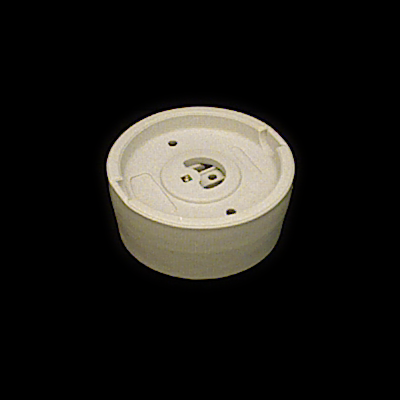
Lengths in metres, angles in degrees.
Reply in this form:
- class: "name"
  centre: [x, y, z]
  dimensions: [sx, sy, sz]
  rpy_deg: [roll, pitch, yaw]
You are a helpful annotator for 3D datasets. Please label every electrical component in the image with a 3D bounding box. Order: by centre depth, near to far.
- class: "electrical component"
  centre: [0.000, 0.000, 0.635]
  dimensions: [0.108, 0.061, 0.107]
  rpy_deg: [1, 42, 0]
